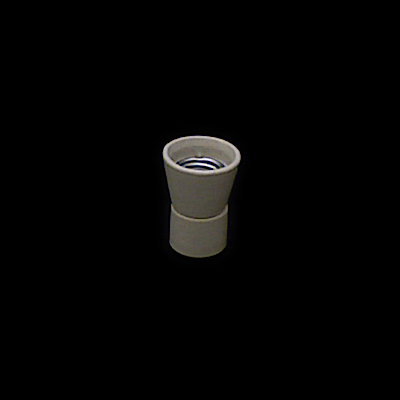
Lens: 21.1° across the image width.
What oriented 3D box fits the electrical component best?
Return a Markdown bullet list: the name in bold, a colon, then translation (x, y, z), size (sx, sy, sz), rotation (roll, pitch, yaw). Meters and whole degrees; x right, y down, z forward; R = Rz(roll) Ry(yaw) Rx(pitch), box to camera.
- **electrical component**: translation (0.000, 0.000, 0.634), size (0.044, 0.066, 0.044), rotation (2, 31, -1)
